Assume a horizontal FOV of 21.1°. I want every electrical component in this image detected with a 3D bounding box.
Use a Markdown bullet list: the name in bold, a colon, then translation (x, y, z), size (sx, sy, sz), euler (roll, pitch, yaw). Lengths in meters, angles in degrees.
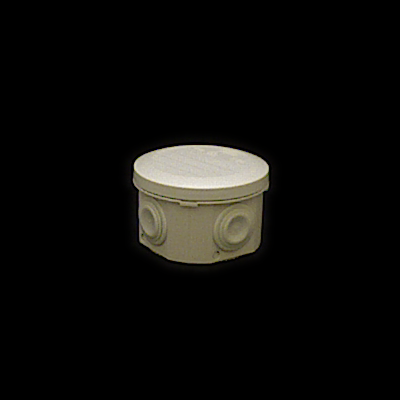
- **electrical component**: translation (0.000, 0.000, 0.639), size (0.080, 0.051, 0.079), euler (1, 21, 0)
